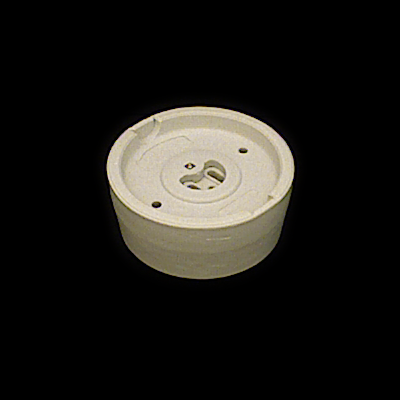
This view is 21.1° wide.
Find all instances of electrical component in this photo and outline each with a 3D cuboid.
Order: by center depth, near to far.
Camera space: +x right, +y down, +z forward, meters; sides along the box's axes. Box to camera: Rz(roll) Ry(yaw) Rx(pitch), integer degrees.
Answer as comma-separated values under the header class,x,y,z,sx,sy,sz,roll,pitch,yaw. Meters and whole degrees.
class,x,y,z,sx,sy,sz,roll,pitch,yaw
electrical component,0.000,0.000,0.638,0.108,0.061,0.107,1,43,0
